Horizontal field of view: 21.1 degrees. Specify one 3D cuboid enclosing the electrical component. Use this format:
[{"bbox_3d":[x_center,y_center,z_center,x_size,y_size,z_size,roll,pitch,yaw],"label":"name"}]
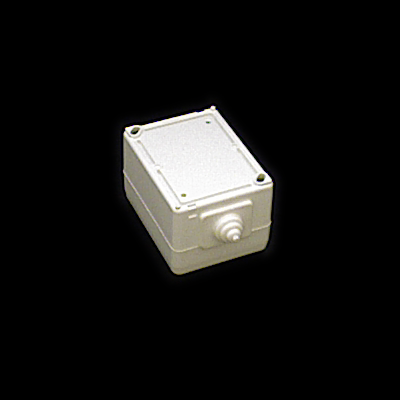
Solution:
[{"bbox_3d":[0.000,0.000,0.626,0.061,0.061,0.096,-16,44,-19],"label":"electrical component"}]
